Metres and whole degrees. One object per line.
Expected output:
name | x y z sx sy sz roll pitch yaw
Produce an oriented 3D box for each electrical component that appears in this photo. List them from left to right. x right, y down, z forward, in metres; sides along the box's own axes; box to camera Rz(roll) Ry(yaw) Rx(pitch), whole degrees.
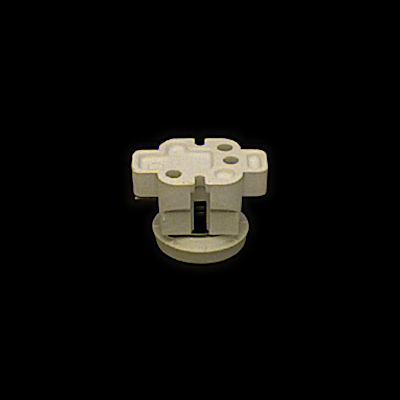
electrical component | 0.000 0.000 0.641 0.078 0.057 0.057 -2 33 -2
